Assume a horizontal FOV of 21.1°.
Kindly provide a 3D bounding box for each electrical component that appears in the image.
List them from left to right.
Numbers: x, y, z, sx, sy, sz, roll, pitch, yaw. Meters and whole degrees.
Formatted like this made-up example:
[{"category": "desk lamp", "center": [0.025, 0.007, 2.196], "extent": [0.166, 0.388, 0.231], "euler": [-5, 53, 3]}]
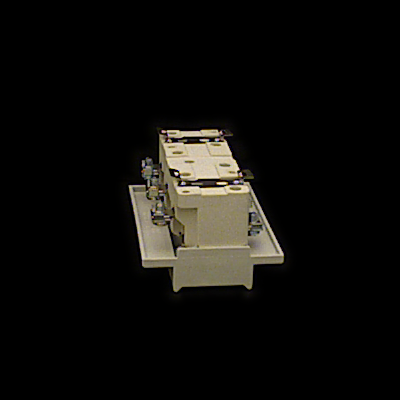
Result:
[{"category": "electrical component", "center": [0.000, 0.000, 0.647], "extent": [0.079, 0.064, 0.119], "euler": [-1, 22, -8]}]
